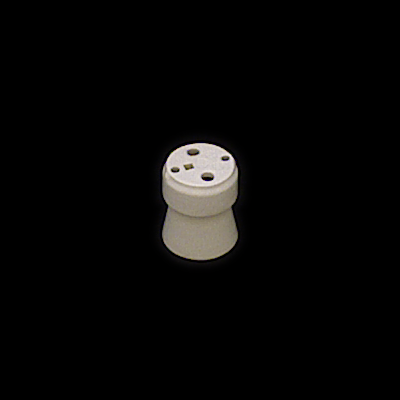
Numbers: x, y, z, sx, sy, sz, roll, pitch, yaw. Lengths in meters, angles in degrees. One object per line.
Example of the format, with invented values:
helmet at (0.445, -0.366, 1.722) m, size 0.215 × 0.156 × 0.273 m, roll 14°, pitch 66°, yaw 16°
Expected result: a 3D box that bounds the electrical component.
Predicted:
electrical component at (0.000, 0.000, 0.633) m, size 0.045 × 0.055 × 0.044 m, roll 1°, pitch 42°, yaw 0°
